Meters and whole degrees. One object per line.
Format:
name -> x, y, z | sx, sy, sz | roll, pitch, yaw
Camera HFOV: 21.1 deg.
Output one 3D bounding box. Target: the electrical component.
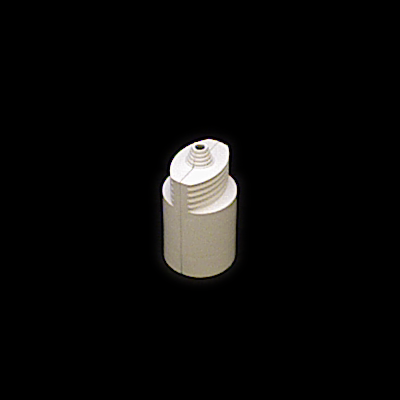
electrical component -> 0.000, 0.000, 0.624 | 0.043, 0.082, 0.042 | 1, 41, 0
